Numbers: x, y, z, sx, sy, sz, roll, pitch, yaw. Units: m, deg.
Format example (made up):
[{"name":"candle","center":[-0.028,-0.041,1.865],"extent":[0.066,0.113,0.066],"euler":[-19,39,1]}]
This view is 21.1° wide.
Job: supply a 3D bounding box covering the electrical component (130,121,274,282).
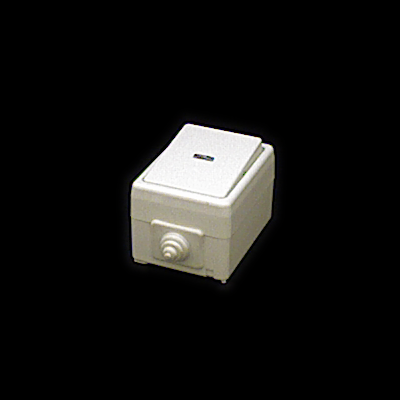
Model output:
[{"name":"electrical component","center":[0.000,0.000,0.632],"extent":[0.061,0.061,0.095],"euler":[13,33,19]}]
